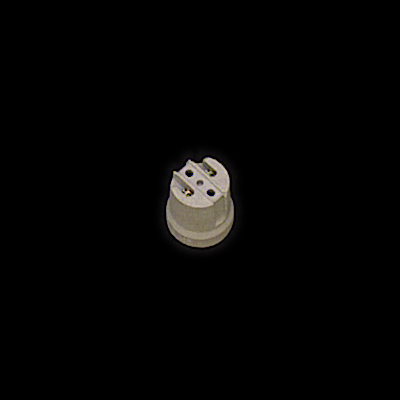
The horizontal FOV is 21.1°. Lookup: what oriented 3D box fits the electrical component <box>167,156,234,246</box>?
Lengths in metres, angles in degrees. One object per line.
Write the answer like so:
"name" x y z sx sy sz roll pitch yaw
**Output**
"electrical component" 0.000 0.000 0.633 0.040 0.040 0.046 0 -27 -1
